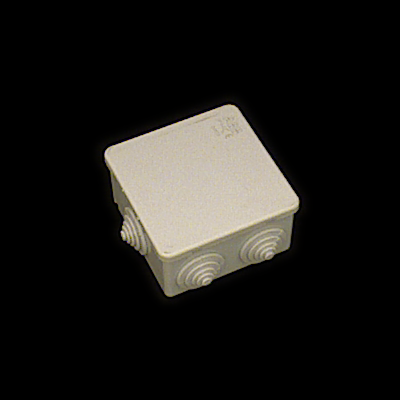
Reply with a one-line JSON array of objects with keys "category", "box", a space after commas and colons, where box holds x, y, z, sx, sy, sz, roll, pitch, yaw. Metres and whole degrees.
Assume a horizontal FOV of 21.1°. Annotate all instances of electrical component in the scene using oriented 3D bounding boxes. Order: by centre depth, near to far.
[{"category": "electrical component", "box": [0.000, 0.000, 0.641, 0.100, 0.099, 0.049, -21, -34, -15]}]
